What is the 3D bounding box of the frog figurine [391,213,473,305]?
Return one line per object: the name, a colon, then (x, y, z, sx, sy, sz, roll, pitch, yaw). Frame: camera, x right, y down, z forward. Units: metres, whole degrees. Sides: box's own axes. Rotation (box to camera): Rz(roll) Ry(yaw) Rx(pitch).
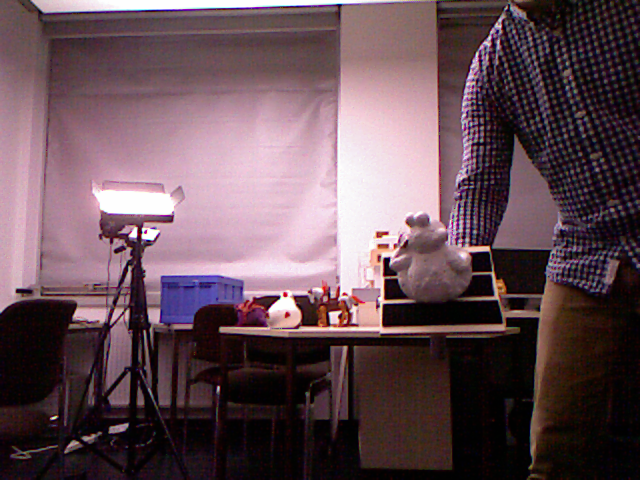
frog figurine: (0.193, 0.032, 0.888, 0.138, 0.126, 0.156, 8, -41, 19)
